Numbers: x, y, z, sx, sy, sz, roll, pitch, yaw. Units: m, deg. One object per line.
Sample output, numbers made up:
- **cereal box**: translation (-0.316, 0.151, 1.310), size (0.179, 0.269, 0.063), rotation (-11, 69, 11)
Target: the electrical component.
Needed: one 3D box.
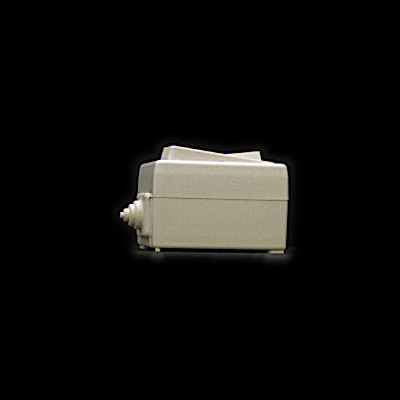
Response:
- **electrical component**: translation (0.000, 0.000, 0.649), size (0.096, 0.061, 0.061), rotation (2, 0, -13)
